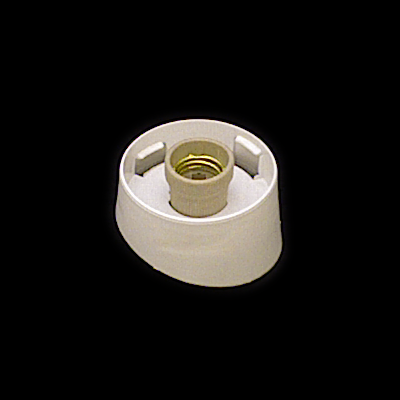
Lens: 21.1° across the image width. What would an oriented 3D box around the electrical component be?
[{"bbox_3d":[0.000,0.000,0.629,0.099,0.064,0.098,1,42,-1],"label":"electrical component"}]
